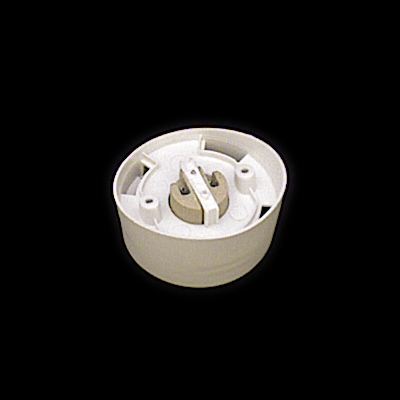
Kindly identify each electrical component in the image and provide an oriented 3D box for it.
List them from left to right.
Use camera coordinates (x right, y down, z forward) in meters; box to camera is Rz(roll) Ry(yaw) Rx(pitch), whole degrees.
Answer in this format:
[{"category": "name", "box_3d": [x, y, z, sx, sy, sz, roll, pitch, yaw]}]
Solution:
[{"category": "electrical component", "box_3d": [0.000, 0.000, 0.625, 0.099, 0.098, 0.064, 0, -37, -2]}]
